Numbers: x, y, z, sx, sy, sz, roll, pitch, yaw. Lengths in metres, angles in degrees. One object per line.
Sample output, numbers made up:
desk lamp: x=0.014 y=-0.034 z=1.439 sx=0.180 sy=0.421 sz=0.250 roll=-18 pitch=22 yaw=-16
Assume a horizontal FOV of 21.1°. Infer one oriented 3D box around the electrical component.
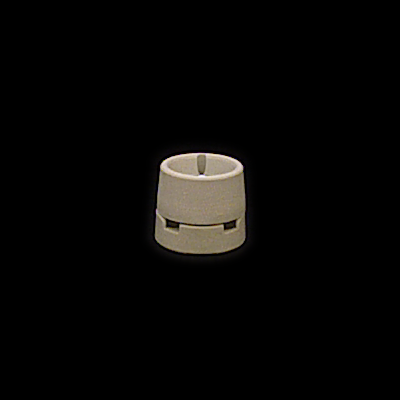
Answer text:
electrical component: x=0.000 y=0.000 z=0.643 sx=0.055 sy=0.047 sz=0.055 roll=1 pitch=20 yaw=0
